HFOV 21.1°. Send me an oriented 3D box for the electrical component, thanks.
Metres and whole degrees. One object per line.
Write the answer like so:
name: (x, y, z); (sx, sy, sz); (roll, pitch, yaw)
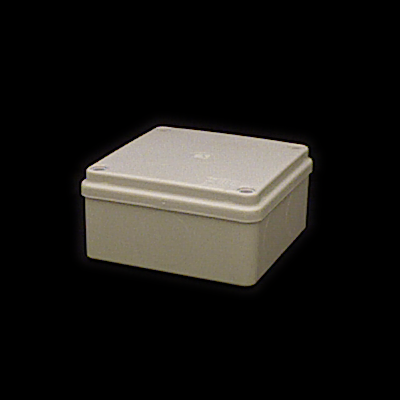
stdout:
electrical component: (0.000, 0.000, 0.641); (0.108, 0.057, 0.108); (9, 22, 20)
